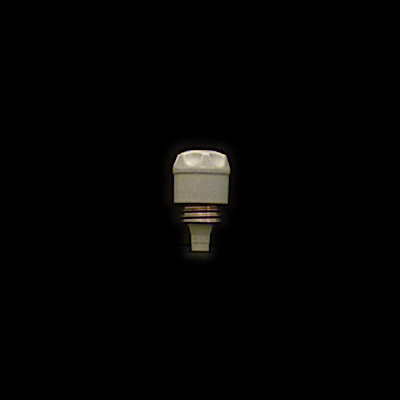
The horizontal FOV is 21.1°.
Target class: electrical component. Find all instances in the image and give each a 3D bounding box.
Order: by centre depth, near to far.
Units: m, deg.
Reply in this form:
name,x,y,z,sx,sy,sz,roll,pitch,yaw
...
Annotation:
name,x,y,z,sx,sy,sz,roll,pitch,yaw
electrical component,0.000,0.000,0.659,0.035,0.061,0.035,1,1,1
